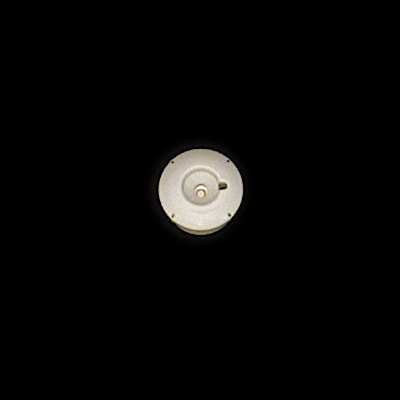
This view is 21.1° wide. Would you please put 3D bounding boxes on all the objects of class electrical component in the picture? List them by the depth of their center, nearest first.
[{"bbox_3d":[0.000,0.000,0.634,0.048,0.048,0.062,0,-16,1],"label":"electrical component"}]
